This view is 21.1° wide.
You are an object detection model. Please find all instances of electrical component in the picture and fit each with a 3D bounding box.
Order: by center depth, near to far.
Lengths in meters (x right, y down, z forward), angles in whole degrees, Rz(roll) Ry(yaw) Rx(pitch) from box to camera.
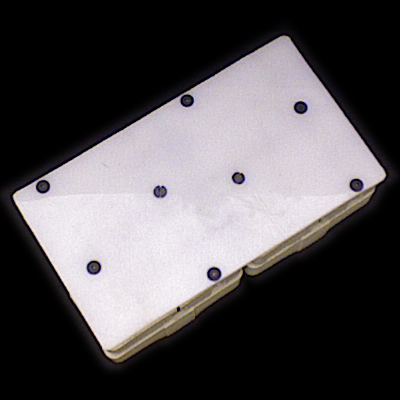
[{"bbox_3d":[0.000,0.000,0.625,0.187,0.106,0.060,-31,-14,-9],"label":"electrical component"}]
